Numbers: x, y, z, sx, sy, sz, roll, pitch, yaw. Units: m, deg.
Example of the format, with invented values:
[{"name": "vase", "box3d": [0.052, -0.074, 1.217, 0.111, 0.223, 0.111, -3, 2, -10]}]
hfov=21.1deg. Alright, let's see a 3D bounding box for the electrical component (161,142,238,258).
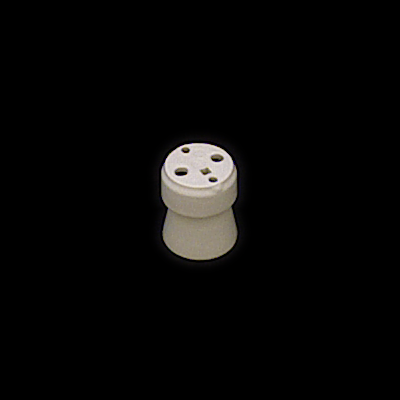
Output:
[{"name": "electrical component", "box3d": [0.000, 0.000, 0.631, 0.045, 0.055, 0.044, 0, 42, 0]}]
